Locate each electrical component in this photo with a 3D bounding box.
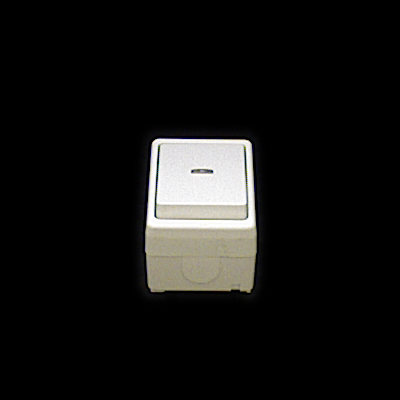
[{"bbox_3d":[0.000,0.000,0.632,0.062,0.061,0.095,1,42,0],"label":"electrical component"}]
